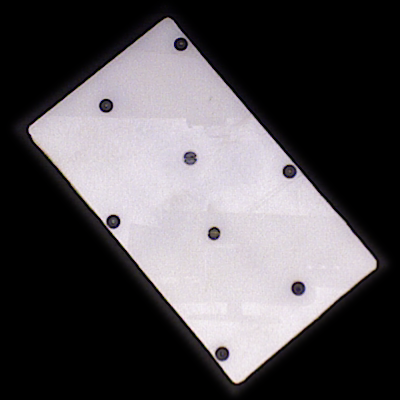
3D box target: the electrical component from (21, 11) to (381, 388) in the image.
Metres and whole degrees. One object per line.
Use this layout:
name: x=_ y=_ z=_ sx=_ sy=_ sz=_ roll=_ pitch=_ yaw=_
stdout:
electrical component: x=0.000 y=0.000 z=0.626 sx=0.106 sy=0.186 sz=0.060 roll=-40 pitch=-6 yaw=-4
